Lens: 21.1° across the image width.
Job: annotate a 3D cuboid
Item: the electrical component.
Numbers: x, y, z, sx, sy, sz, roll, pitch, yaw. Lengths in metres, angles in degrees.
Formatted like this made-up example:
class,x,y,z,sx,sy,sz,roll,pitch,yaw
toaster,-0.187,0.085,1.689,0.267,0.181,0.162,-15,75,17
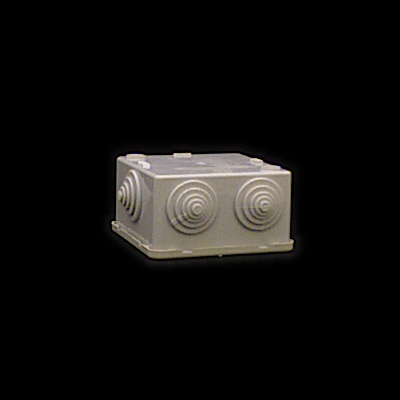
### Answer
class,x,y,z,sx,sy,sz,roll,pitch,yaw
electrical component,0.000,0.000,0.646,0.100,0.049,0.099,-3,11,-20
